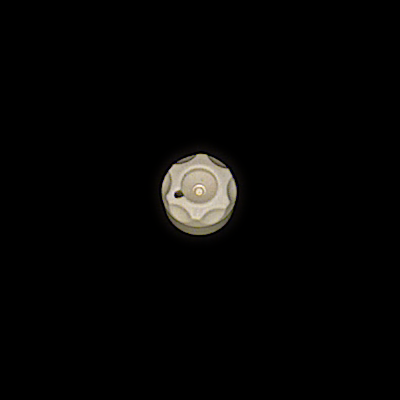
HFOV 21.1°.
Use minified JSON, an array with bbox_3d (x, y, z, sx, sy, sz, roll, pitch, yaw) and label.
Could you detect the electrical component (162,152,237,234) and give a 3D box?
[{"bbox_3d":[0.000,0.000,0.634,0.043,0.043,0.061,0,-17,0],"label":"electrical component"}]
